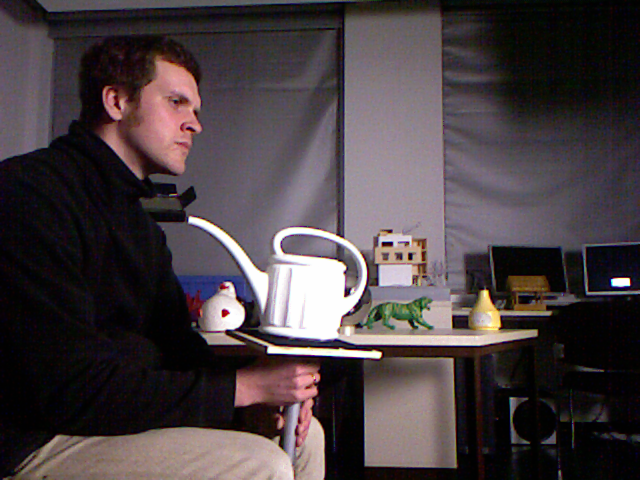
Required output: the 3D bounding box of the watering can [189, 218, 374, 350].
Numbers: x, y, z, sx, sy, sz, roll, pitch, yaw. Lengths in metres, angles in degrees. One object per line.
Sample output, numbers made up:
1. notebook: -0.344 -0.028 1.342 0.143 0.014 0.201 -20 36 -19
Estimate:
1. watering can: -0.067 0.081 0.886 0.347 0.225 0.104 10 -2 -23
